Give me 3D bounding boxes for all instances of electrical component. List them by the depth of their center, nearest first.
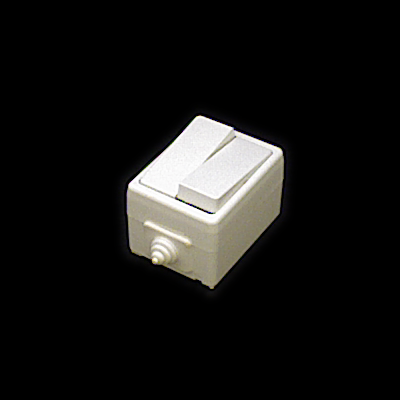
[{"bbox_3d":[0.000,0.000,0.629,0.061,0.061,0.096,24,46,24],"label":"electrical component"}]
